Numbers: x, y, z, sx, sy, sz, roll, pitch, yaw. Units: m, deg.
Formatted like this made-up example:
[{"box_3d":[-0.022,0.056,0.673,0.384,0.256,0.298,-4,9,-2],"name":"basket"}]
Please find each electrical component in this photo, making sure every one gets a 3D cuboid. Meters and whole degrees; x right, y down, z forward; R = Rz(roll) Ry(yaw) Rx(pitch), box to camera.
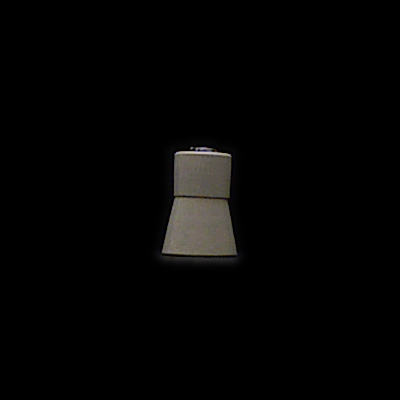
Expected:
[{"box_3d":[0.000,0.000,0.648,0.044,0.065,0.044,2,1,0],"name":"electrical component"}]
